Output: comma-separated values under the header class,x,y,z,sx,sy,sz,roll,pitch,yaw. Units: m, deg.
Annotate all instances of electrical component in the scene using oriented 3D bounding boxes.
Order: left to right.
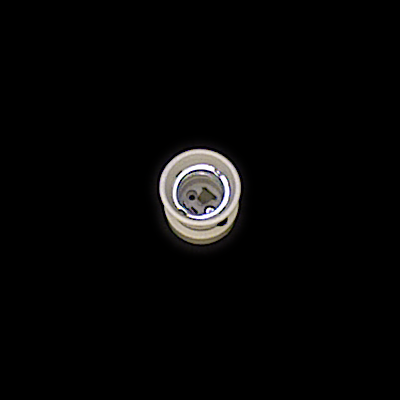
class,x,y,z,sx,sy,sz,roll,pitch,yaw
electrical component,0.000,0.000,0.627,0.045,0.045,0.055,0,-16,1
